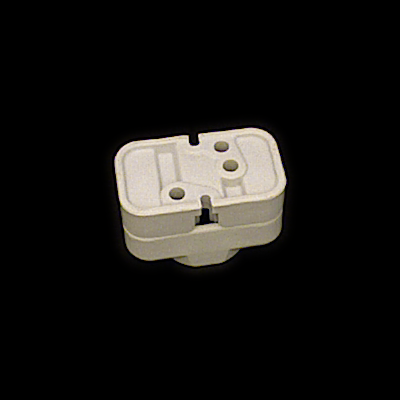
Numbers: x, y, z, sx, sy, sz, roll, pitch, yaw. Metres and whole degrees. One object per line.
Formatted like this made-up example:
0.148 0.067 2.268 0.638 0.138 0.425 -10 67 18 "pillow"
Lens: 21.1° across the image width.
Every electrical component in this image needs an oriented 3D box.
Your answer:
0.000 0.000 0.637 0.095 0.053 0.059 -8 -37 -6 "electrical component"
